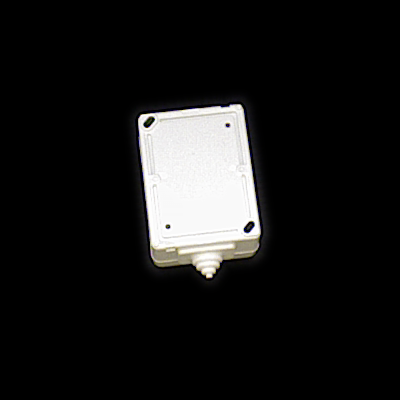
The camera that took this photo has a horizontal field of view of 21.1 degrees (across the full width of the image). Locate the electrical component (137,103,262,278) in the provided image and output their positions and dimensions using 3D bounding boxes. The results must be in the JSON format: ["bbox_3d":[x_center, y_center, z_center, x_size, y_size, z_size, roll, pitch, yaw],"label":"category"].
[{"bbox_3d":[0.000,0.000,0.623,0.062,0.097,0.060,-6,-17,-3],"label":"electrical component"}]
